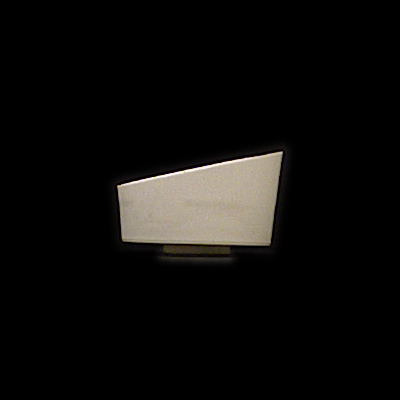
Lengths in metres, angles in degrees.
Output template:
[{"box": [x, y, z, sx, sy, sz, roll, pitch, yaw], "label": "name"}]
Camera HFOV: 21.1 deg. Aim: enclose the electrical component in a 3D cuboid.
[{"box": [0.000, 0.000, 0.650, 0.099, 0.064, 0.099, 2, -1, 0], "label": "electrical component"}]
